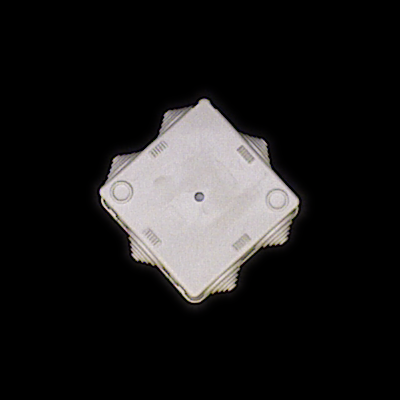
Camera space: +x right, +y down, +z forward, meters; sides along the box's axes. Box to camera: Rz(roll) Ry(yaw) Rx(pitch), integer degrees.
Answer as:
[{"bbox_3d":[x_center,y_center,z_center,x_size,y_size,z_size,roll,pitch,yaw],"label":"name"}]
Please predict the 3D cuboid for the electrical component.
[{"bbox_3d":[0.000,0.000,0.633,0.100,0.100,0.048,-42,-5,-5],"label":"electrical component"}]
